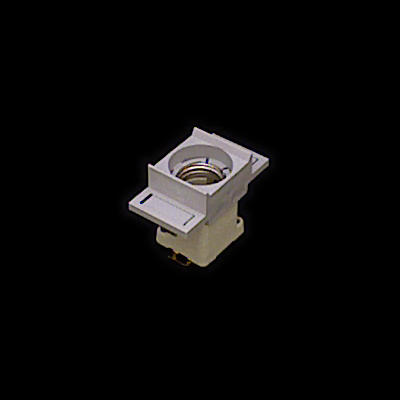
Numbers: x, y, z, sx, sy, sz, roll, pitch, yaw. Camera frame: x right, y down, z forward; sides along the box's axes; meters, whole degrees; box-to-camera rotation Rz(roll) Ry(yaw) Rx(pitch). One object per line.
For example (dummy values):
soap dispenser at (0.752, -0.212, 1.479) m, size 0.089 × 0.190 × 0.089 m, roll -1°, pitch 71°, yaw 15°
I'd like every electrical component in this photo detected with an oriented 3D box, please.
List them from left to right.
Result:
electrical component at (0.000, 0.000, 0.631) m, size 0.042 × 0.064 × 0.080 m, roll 26°, pitch 48°, yaw 27°
